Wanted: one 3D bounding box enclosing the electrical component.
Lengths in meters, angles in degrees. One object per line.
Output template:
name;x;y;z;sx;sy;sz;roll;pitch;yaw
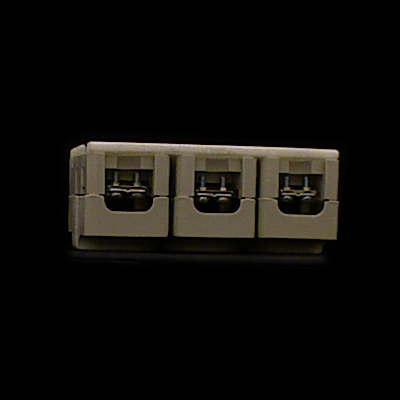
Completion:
electrical component;0.000;0.000;0.660;0.150;0.062;0.089;2;0;-13
